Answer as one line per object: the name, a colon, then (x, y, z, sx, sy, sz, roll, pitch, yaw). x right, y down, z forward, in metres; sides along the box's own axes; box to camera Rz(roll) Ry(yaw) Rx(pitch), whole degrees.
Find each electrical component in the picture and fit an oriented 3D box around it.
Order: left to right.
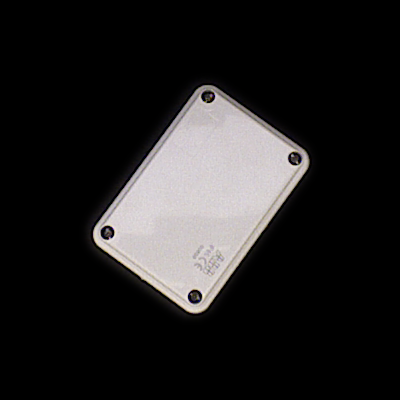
electrical component: (0.000, 0.000, 0.627, 0.078, 0.113, 0.057, 36, -5, 4)
